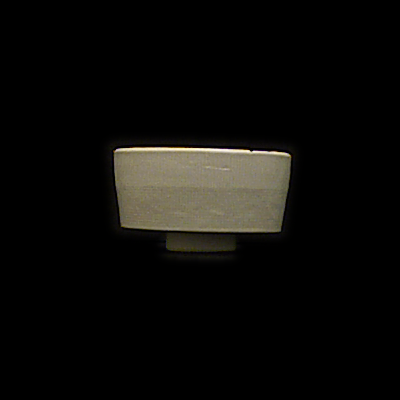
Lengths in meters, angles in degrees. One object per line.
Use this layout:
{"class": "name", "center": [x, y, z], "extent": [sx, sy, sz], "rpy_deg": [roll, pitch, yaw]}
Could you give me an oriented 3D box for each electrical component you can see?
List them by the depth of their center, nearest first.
{"class": "electrical component", "center": [0.000, 0.000, 0.657], "extent": [0.108, 0.060, 0.108], "rpy_deg": [2, 1, 1]}
